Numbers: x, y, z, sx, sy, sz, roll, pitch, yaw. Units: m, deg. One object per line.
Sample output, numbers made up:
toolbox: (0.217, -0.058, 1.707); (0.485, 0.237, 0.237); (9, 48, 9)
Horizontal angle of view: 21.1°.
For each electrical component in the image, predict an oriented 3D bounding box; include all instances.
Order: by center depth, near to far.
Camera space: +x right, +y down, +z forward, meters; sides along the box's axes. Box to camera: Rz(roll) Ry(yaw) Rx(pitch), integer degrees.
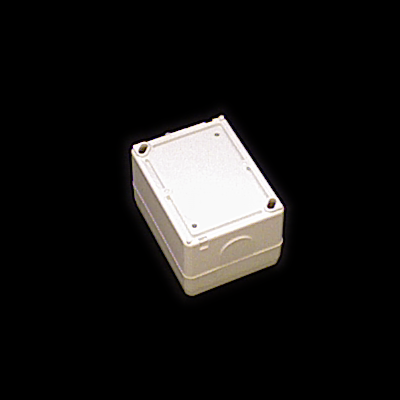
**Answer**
electrical component: (0.000, 0.000, 0.631); (0.062, 0.096, 0.061); (-20, -36, -15)
